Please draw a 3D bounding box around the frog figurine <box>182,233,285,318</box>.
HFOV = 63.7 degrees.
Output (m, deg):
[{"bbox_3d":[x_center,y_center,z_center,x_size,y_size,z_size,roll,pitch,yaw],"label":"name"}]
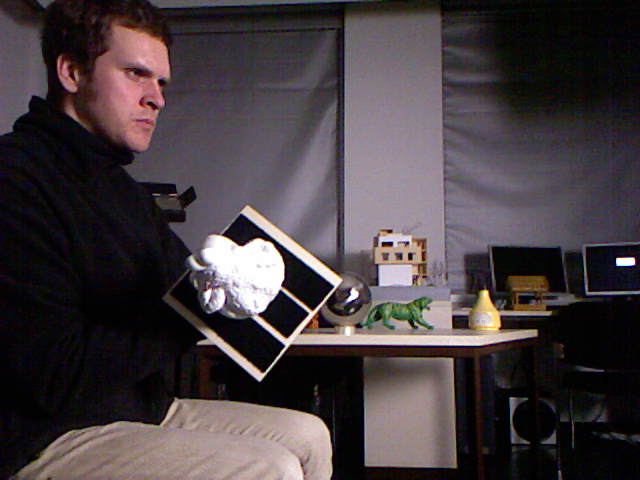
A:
[{"bbox_3d":[-0.121,0.047,0.746,0.138,0.124,0.158,-29,-13,-3],"label":"frog figurine"}]
